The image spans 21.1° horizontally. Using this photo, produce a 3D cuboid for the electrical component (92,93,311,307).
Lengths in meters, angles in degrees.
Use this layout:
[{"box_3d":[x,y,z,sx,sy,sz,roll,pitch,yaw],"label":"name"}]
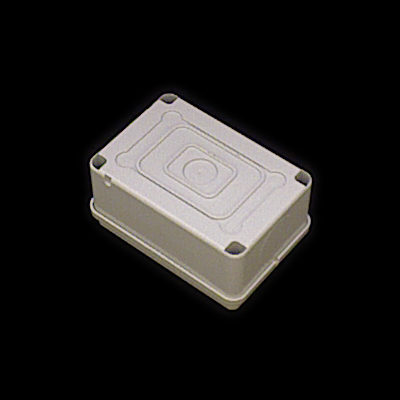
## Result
[{"box_3d":[0.000,0.000,0.629,0.113,0.078,0.057,32,-32,21],"label":"electrical component"}]
